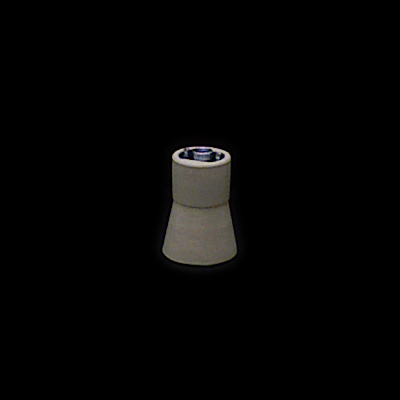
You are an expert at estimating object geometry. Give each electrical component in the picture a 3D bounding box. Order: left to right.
[{"bbox_3d":[0.000,0.000,0.636,0.044,0.066,0.044,1,22,0],"label":"electrical component"}]
